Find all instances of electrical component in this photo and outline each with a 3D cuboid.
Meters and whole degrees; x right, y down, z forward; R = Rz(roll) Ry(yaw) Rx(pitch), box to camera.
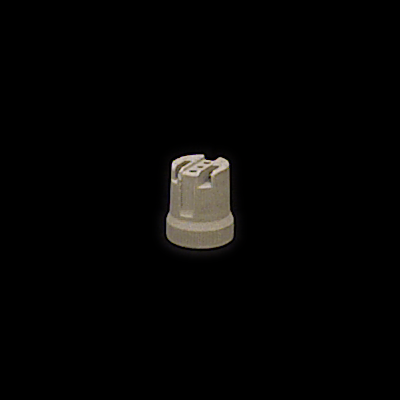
[{"bbox_3d":[0.000,0.000,0.641,0.040,0.046,0.040,1,21,0],"label":"electrical component"}]
